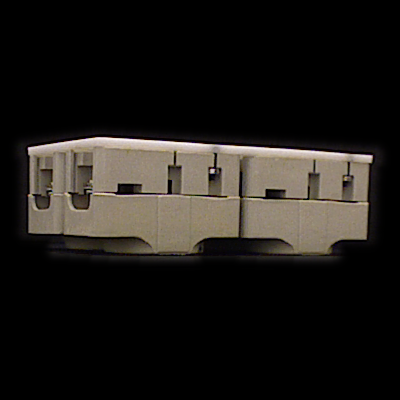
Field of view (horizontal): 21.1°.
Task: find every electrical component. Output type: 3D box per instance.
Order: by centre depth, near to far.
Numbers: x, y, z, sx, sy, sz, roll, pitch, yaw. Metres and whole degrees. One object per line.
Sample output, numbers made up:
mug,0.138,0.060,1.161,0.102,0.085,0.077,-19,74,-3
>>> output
electrical component,0.000,0.000,0.649,0.187,0.060,0.105,1,-1,-31
